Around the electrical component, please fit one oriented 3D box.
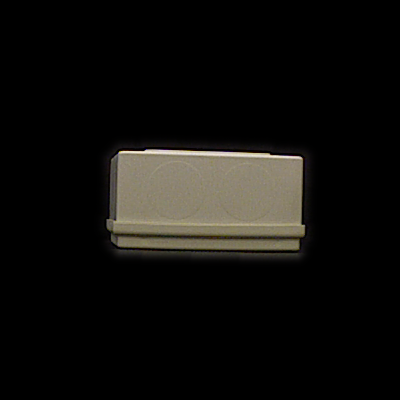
[{"bbox_3d":[0.000,0.000,0.649,0.109,0.056,0.108,1,0,-7],"label":"electrical component"}]
